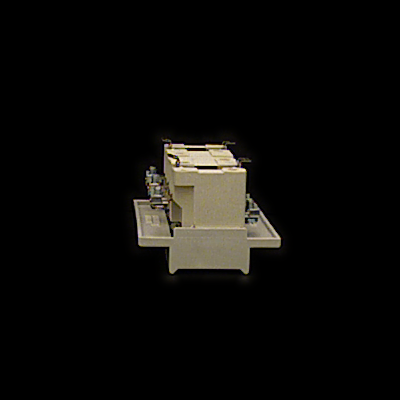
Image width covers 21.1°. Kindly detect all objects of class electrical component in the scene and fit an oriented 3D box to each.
[{"bbox_3d":[0.000,0.000,0.652,0.079,0.063,0.120,1,11,-5],"label":"electrical component"}]
